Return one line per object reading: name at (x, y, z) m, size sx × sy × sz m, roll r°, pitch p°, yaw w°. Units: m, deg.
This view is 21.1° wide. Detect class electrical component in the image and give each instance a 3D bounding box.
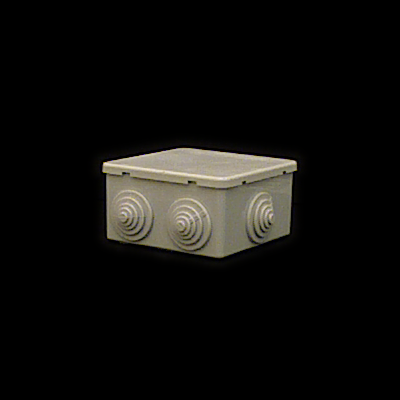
electrical component at (0.000, 0.000, 0.653) m, size 0.098 × 0.049 × 0.100 m, roll 9°, pitch 13°, yaw 32°
